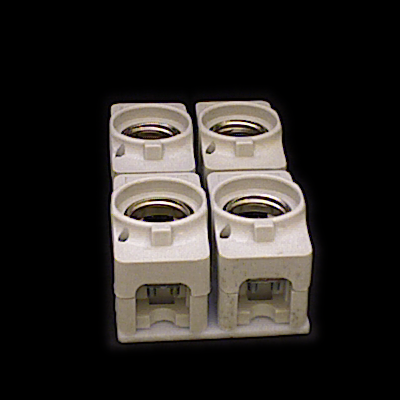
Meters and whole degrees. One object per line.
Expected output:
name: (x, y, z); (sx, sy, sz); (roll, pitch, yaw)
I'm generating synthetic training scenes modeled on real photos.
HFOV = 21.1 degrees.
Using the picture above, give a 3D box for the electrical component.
electrical component: (0.000, 0.000, 0.634); (0.105, 0.061, 0.183); (-2, 32, -4)
